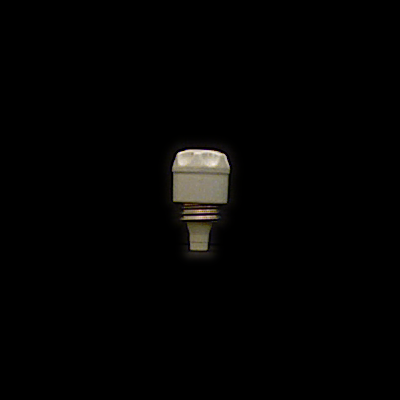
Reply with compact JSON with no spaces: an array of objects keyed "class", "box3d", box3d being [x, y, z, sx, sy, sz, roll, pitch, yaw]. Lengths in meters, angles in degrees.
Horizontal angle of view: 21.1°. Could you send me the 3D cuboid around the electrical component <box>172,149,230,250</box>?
[{"class":"electrical component","box3d":[0.000,0.000,0.657,0.035,0.061,0.035,1,2,0]}]
